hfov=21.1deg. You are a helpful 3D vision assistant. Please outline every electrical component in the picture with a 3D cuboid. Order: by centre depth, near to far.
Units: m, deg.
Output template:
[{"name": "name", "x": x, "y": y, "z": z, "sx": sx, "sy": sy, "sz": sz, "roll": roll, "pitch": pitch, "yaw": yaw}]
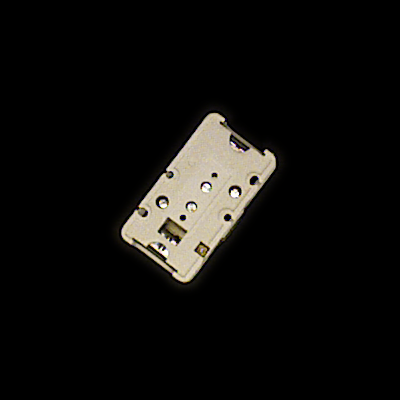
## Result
[{"name": "electrical component", "x": 0.000, "y": 0.000, "z": 0.637, "sx": 0.050, "sy": 0.090, "sz": 0.055, "roll": 37, "pitch": -4, "yaw": 3}]
